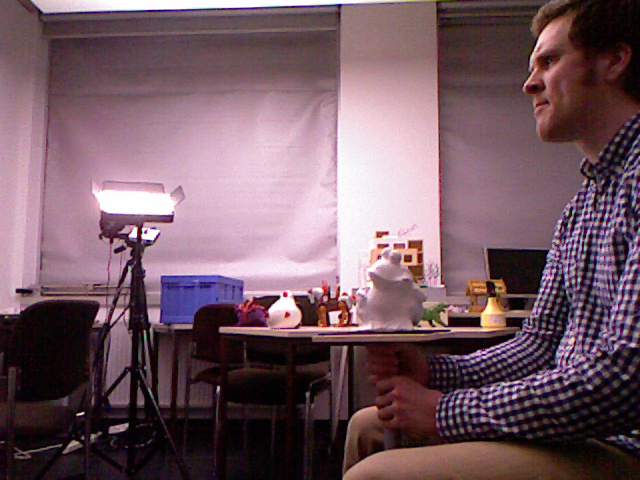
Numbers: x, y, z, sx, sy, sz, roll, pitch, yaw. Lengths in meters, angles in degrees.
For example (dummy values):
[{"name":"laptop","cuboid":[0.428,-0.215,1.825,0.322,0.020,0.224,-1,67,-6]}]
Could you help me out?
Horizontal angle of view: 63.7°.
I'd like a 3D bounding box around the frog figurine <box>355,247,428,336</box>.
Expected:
[{"name":"frog figurine","cuboid":[0.127,0.093,0.951,0.137,0.160,0.123,-6,-7,40]}]
